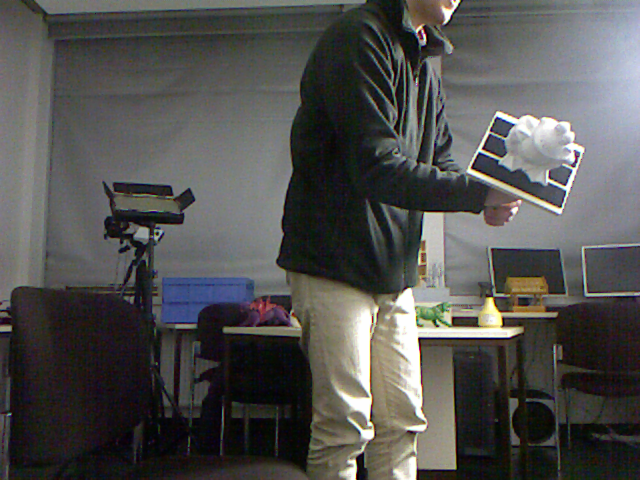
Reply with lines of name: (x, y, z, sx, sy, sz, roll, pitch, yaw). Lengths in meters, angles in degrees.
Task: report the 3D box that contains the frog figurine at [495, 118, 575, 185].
frog figurine: (0.448, -0.200, 1.038, 0.125, 0.139, 0.156, -39, -18, -25)
